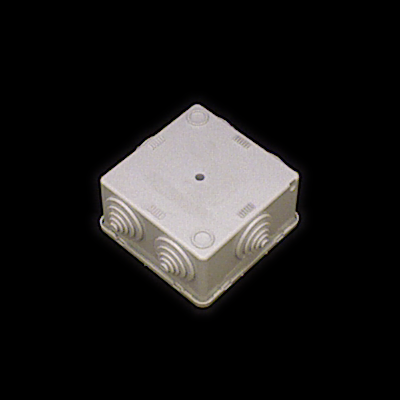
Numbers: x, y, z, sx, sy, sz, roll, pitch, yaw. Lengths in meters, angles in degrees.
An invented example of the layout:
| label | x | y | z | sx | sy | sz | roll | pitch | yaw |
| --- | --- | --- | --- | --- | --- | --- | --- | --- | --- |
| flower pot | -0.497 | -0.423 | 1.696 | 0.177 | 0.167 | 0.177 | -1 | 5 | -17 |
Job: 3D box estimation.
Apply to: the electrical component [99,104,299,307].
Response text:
| label | x | y | z | sx | sy | sz | roll | pitch | yaw |
| --- | --- | --- | --- | --- | --- | --- | --- | --- | --- |
| electrical component | 0.000 | 0.000 | 0.632 | 0.099 | 0.049 | 0.100 | 37 | 61 | 24 |
